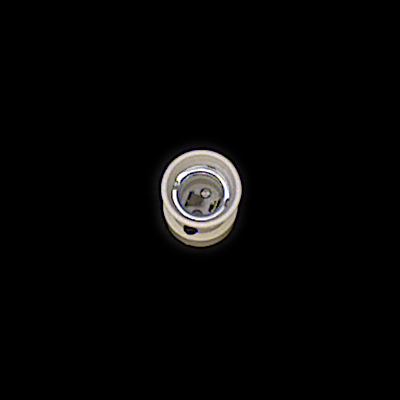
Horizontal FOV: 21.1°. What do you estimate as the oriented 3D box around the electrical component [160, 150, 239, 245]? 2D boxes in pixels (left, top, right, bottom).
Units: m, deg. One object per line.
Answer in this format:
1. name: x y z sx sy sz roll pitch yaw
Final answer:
1. electrical component: 0.000 0.000 0.628 0.045 0.045 0.055 0 -16 0
